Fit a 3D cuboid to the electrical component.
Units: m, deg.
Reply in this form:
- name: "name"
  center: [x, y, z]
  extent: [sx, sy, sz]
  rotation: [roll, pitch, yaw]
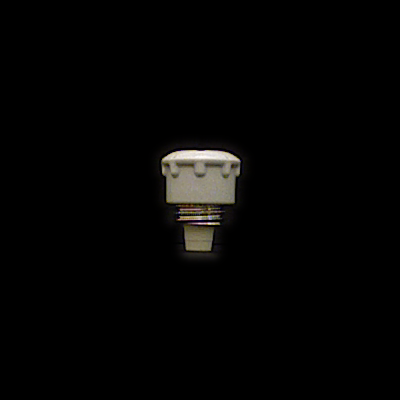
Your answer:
- name: "electrical component"
  center: [0.000, 0.000, 0.656]
  extent: [0.048, 0.062, 0.048]
  rotation: [1, 2, 0]
